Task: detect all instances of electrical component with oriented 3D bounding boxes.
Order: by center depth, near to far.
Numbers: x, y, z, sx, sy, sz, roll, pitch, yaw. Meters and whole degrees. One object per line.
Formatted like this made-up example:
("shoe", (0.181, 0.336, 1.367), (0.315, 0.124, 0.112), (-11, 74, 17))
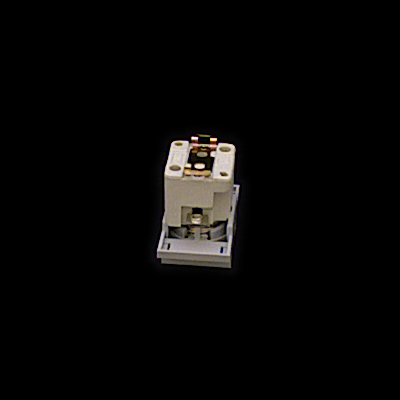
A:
("electrical component", (0.000, 0.000, 0.633), (0.042, 0.064, 0.080), (3, 31, 4))
